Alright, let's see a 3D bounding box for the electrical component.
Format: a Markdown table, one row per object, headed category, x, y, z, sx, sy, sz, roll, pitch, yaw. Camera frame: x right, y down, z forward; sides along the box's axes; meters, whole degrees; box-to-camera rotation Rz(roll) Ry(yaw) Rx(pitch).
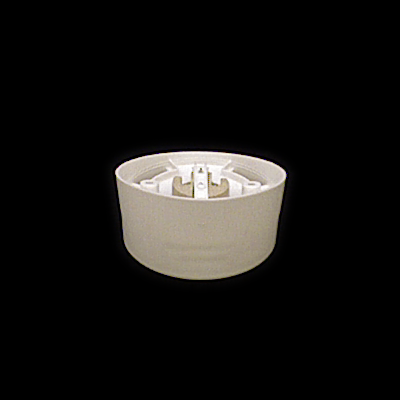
| category | x | y | z | sx | sy | sz | roll | pitch | yaw |
| --- | --- | --- | --- | --- | --- | --- | --- | --- | --- |
| electrical component | 0.000 | 0.000 | 0.632 | 0.099 | 0.065 | 0.097 | 1 | 32 | -1 |
